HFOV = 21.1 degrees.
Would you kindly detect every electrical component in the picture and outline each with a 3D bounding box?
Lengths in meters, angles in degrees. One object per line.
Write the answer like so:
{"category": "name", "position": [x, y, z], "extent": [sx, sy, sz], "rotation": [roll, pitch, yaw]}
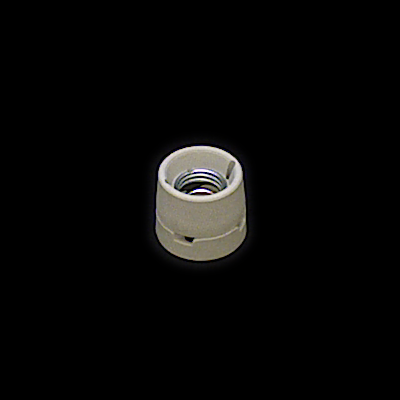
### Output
{"category": "electrical component", "position": [0.000, 0.000, 0.636], "extent": [0.055, 0.047, 0.055], "rotation": [0, 42, 0]}
